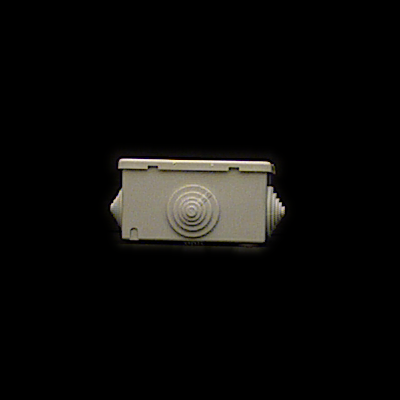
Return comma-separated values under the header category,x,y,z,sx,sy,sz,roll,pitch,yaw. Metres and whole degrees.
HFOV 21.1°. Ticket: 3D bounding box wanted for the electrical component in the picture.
category,x,y,z,sx,sy,sz,roll,pitch,yaw
electrical component,0.000,0.000,0.657,0.099,0.048,0.100,1,1,5
